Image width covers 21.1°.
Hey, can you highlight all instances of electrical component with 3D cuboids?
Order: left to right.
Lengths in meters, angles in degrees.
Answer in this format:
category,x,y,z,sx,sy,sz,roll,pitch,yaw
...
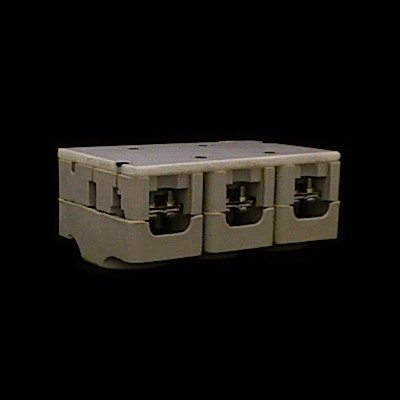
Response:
category,x,y,z,sx,sy,sz,roll,pitch,yaw
electrical component,0.000,0.000,0.654,0.150,0.062,0.088,-5,12,-34
